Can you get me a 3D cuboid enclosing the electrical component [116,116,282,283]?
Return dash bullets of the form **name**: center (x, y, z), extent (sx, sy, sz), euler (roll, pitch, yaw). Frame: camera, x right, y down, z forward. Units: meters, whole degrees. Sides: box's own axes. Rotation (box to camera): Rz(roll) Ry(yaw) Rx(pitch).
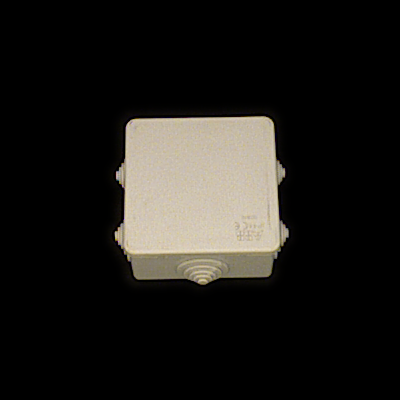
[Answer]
- **electrical component**: center (0.000, 0.000, 0.639), extent (0.100, 0.100, 0.048), euler (-1, -26, -1)
